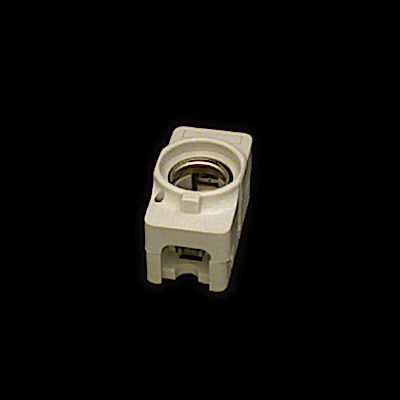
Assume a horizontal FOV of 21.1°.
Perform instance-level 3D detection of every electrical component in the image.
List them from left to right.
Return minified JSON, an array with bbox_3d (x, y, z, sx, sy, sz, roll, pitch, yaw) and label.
[{"bbox_3d":[0.000,0.000,0.639,0.050,0.056,0.089,7,43,7],"label":"electrical component"}]
